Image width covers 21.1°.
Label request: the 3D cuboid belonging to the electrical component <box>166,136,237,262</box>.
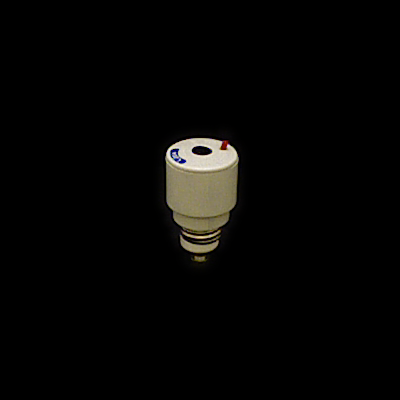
[{"bbox_3d":[0.000,0.000,0.629,0.040,0.079,0.039,1,31,-1],"label":"electrical component"}]
